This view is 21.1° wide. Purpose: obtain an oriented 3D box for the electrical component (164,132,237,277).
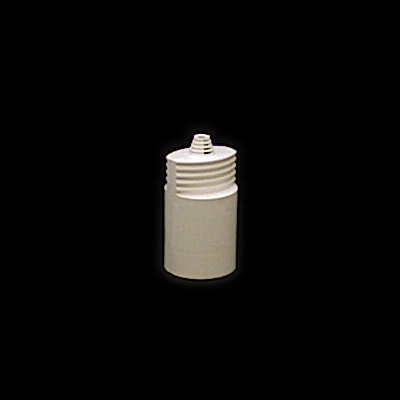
[{"bbox_3d":[0.000,0.000,0.635,0.043,0.082,0.042,1,21,0],"label":"electrical component"}]
